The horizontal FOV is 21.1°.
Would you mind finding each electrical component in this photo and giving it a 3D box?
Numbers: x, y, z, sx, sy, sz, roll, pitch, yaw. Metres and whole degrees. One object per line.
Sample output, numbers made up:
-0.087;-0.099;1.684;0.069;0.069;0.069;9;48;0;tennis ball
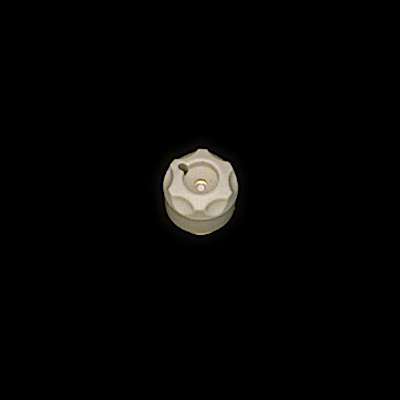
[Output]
0.000;0.000;0.634;0.043;0.043;0.062;0;-26;-1;electrical component
